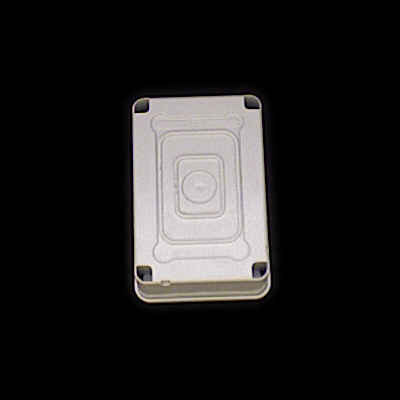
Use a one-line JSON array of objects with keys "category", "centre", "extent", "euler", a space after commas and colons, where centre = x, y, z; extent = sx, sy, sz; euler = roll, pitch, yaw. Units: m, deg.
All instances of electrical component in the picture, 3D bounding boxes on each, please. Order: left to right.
[{"category": "electrical component", "centre": [0.000, 0.000, 0.628], "extent": [0.078, 0.113, 0.057], "euler": [-2, -17, -1]}]
